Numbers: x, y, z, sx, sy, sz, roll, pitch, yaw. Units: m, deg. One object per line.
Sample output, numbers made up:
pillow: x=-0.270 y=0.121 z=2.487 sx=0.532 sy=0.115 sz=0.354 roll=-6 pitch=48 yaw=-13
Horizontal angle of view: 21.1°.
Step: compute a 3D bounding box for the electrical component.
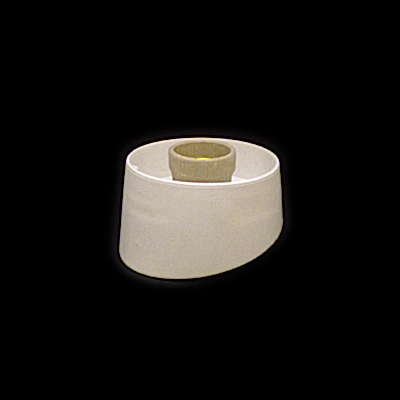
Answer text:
electrical component: x=0.000 y=0.000 z=0.639 sx=0.099 sy=0.065 sz=0.097 roll=1 pitch=21 yaw=0
